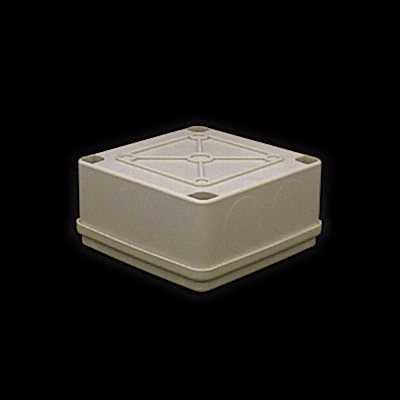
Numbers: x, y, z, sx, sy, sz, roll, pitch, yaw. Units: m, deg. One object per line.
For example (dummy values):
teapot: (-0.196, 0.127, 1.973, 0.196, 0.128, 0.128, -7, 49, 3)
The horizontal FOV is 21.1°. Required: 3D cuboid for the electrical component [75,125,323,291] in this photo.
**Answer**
electrical component: (0.000, 0.000, 0.638, 0.107, 0.057, 0.108, 19, 27, 40)
